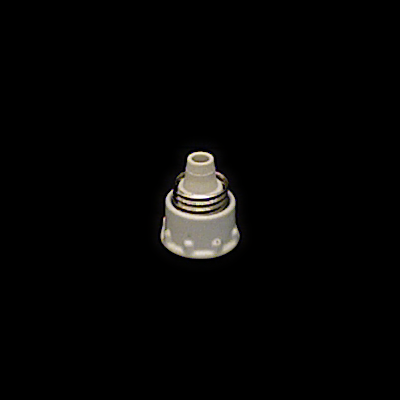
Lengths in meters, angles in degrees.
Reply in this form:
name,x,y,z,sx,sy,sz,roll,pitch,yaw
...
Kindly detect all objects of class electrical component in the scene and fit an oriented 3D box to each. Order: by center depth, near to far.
name,x,y,z,sx,sy,sz,roll,pitch,yaw
electrical component,0.000,0.000,0.639,0.048,0.063,0.047,0,33,0
